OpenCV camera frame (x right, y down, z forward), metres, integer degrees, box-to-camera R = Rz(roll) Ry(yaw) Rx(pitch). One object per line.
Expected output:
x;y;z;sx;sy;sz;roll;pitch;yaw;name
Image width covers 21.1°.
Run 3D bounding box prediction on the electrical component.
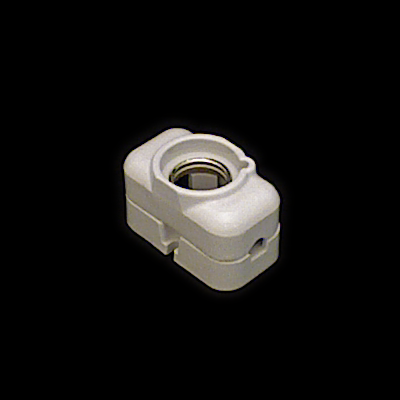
0.000;0.000;0.639;0.094;0.060;0.054;34;53;31;electrical component
